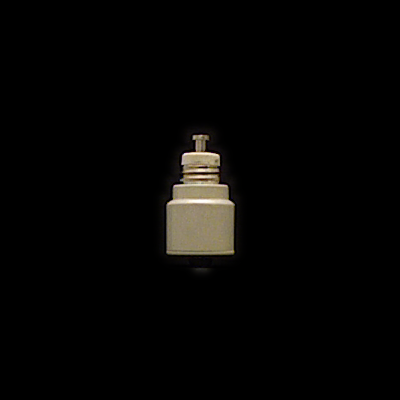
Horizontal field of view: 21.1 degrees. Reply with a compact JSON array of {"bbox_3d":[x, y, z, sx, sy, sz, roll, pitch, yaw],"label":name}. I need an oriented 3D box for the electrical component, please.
[{"bbox_3d":[0.000,0.000,0.649,0.040,0.078,0.040,0,2,0],"label":"electrical component"}]
